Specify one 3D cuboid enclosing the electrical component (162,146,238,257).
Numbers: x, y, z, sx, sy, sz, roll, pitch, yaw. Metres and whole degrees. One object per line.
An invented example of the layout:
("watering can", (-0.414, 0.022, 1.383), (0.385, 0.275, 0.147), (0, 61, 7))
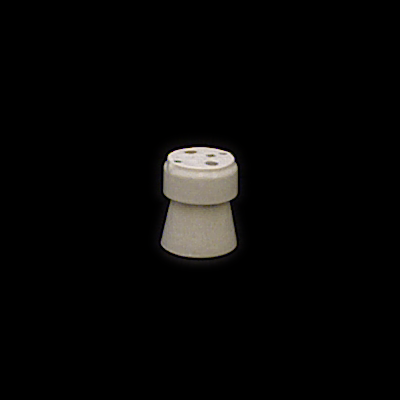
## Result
("electrical component", (0.000, 0.000, 0.639), (0.045, 0.056, 0.044), (1, 22, 0))
